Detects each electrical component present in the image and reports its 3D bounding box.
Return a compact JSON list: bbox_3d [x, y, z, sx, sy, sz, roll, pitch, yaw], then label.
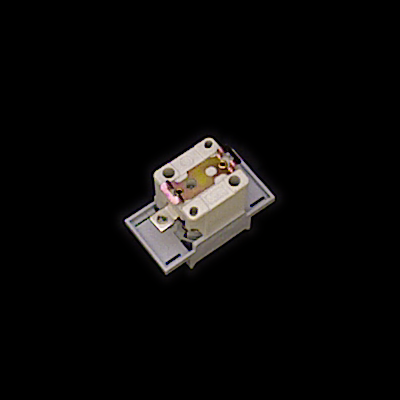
[{"bbox_3d":[0.000,0.000,0.626,0.081,0.042,0.063,-35,-22,-16],"label":"electrical component"}]
